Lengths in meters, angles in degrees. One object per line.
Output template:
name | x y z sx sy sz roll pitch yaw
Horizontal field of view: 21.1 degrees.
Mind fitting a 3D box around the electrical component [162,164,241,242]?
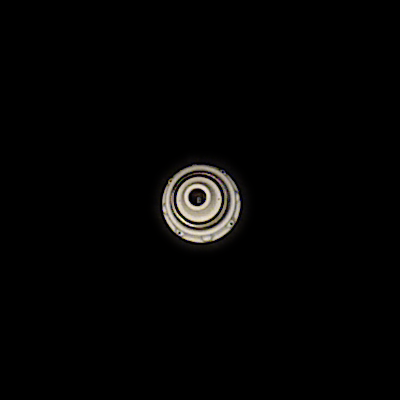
electrical component | 0.000 0.000 0.634 0.048 0.048 0.062 0 -5 2
